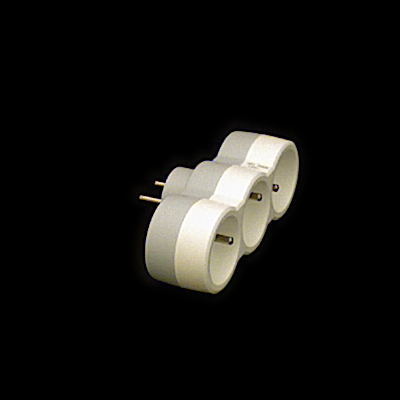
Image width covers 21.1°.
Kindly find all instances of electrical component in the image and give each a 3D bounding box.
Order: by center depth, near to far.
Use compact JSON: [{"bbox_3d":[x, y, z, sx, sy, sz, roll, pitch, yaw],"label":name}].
[{"bbox_3d":[0.000,0.000,0.646,0.073,0.053,0.138,14,34,22],"label":"electrical component"}]
